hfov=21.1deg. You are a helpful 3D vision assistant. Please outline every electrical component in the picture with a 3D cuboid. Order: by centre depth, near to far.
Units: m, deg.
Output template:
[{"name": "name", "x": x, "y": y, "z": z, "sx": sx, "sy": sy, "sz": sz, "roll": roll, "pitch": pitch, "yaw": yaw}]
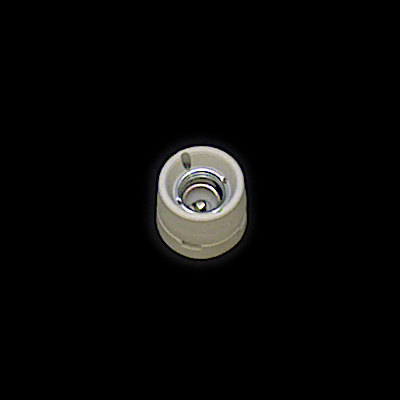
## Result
[{"name": "electrical component", "x": 0.000, "y": 0.000, "z": 0.633, "sx": 0.055, "sy": 0.055, "sz": 0.047, "roll": 0, "pitch": -28, "yaw": 0}]
